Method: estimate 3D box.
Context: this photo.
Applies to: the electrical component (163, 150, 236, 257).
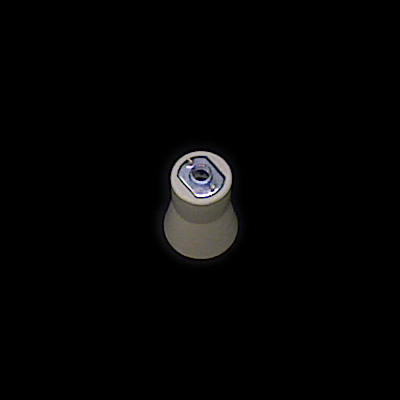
[{"bbox_3d":[0.000,0.000,0.625,0.044,0.044,0.065,0,-28,-1],"label":"electrical component"}]
